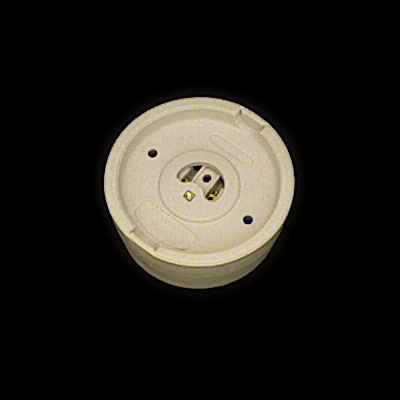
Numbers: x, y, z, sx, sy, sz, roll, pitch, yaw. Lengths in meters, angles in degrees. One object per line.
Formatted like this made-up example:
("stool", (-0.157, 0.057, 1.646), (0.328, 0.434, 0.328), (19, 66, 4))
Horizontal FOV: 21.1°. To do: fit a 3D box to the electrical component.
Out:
("electrical component", (0.000, 0.000, 0.632), (0.108, 0.108, 0.060), (0, -27, -1))
